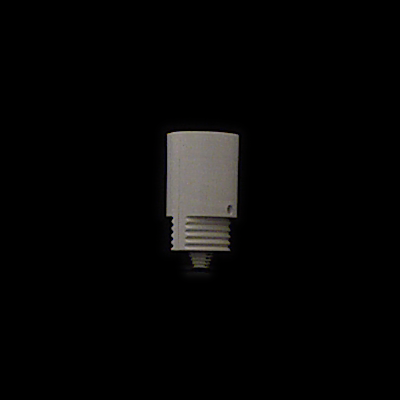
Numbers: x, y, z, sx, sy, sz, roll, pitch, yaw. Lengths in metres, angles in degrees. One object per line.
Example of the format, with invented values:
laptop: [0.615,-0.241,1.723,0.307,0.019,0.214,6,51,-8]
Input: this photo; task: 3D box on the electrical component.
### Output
electrical component: [0.000,0.000,0.653,0.043,0.081,0.043,2,1,0]
